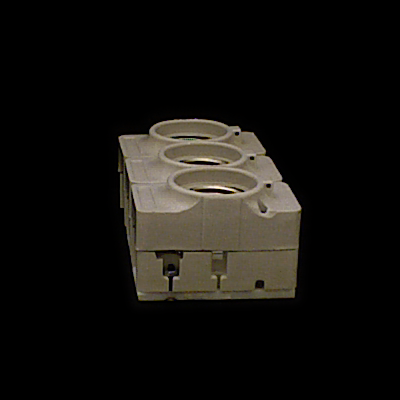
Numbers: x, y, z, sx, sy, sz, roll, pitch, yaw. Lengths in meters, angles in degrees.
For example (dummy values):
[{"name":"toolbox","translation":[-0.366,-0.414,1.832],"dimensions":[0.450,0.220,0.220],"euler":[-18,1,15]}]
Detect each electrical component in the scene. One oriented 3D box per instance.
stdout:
[{"name":"electrical component","translation":[0.000,0.000,0.646],"dimensions":[0.089,0.063,0.147],"euler":[-1,21,-8]}]
